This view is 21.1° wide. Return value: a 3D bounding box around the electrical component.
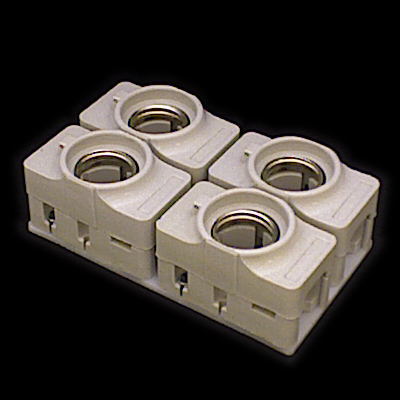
[{"bbox_3d":[0.000,0.000,0.629,0.185,0.061,0.105,23,47,23],"label":"electrical component"}]
